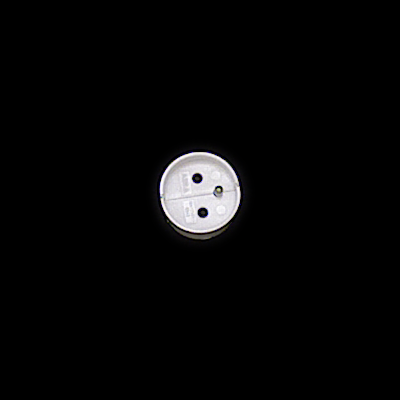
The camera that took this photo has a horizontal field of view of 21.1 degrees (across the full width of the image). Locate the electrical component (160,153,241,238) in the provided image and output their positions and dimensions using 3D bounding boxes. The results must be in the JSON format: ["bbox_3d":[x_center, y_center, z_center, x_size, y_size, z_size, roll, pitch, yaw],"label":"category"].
[{"bbox_3d":[0.000,0.000,0.616,0.043,0.043,0.080,0,-6,-1],"label":"electrical component"}]
